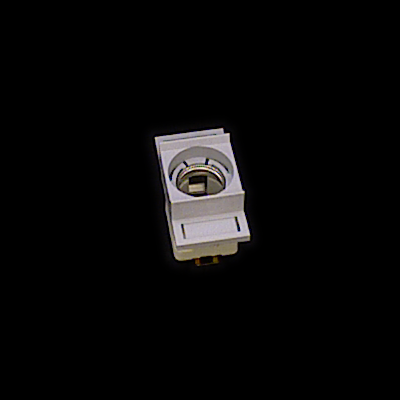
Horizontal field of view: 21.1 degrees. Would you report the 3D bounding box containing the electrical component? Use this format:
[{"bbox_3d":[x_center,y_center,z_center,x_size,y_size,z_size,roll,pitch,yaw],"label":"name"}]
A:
[{"bbox_3d":[0.000,0.000,0.627,0.042,0.080,0.064,-8,-37,-5],"label":"electrical component"}]
